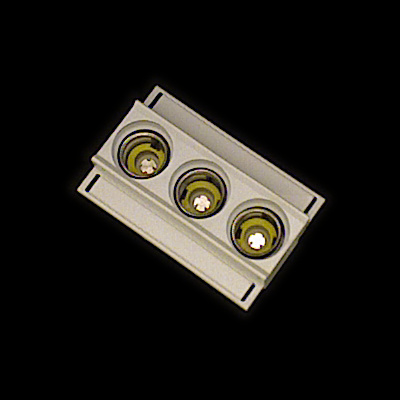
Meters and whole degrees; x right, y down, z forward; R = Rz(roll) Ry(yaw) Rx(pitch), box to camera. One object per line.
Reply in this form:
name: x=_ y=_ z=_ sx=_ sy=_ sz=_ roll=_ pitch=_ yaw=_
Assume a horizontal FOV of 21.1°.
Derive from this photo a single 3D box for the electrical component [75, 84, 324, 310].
electrical component: x=0.000 y=0.000 z=0.637 sx=0.121 sy=0.079 sz=0.063 roll=35 pitch=-11 yaw=10
